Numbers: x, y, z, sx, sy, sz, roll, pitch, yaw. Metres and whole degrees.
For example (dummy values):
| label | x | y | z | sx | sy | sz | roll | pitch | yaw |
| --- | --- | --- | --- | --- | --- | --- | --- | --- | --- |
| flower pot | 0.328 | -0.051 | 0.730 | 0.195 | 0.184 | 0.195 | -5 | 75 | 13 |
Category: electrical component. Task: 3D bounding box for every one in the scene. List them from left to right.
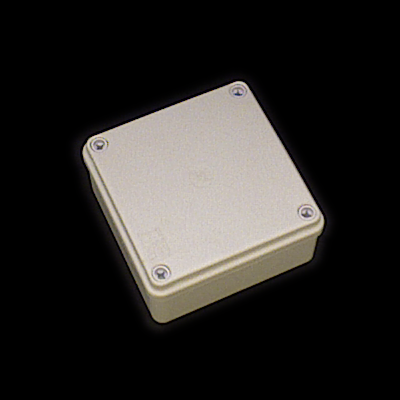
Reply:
| label | x | y | z | sx | sy | sz | roll | pitch | yaw |
| --- | --- | --- | --- | --- | --- | --- | --- | --- | --- |
| electrical component | 0.000 | 0.000 | 0.630 | 0.109 | 0.108 | 0.056 | -22 | -25 | -12 |
